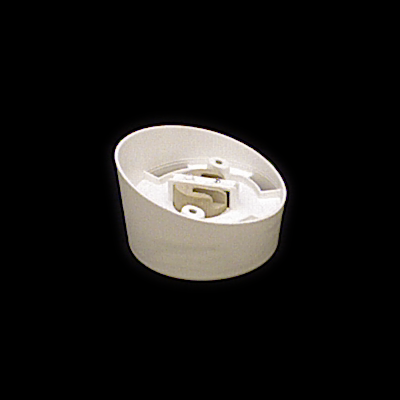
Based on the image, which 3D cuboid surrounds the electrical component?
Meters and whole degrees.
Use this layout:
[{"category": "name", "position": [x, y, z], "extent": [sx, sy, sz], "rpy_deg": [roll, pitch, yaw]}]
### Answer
[{"category": "electrical component", "position": [0.000, 0.000, 0.632], "extent": [0.099, 0.065, 0.097], "rpy_deg": [0, 31, 0]}]
